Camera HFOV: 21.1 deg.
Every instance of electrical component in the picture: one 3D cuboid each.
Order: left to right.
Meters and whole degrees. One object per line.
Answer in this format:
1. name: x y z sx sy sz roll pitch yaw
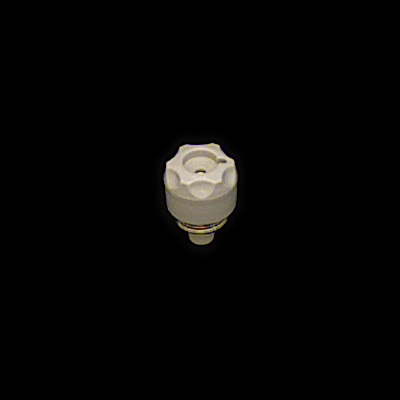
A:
1. electrical component: 0.000 0.000 0.637 0.043 0.062 0.043 0 43 1
